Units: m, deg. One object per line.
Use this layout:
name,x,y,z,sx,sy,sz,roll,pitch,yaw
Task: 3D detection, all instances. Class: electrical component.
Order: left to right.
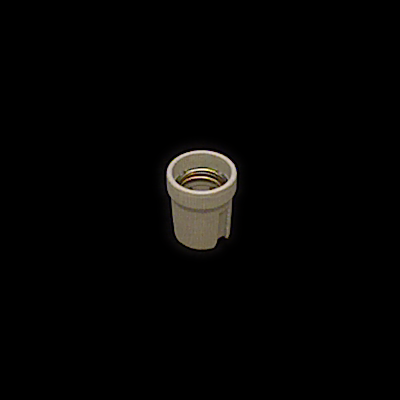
electrical component,0.000,0.000,0.634,0.040,0.047,0.039,1,42,0
